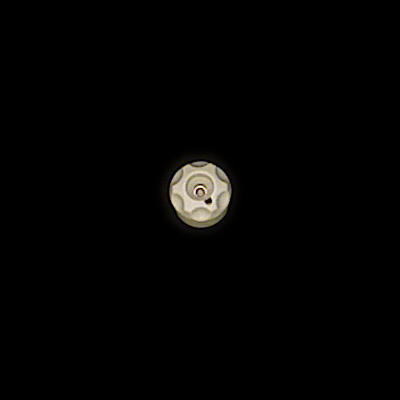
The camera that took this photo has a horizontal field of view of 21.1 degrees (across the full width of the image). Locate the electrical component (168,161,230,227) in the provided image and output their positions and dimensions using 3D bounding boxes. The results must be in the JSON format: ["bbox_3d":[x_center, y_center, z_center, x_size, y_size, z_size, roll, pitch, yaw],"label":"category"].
[{"bbox_3d":[0.000,0.000,0.633,0.035,0.035,0.061,0,-15,1],"label":"electrical component"}]
